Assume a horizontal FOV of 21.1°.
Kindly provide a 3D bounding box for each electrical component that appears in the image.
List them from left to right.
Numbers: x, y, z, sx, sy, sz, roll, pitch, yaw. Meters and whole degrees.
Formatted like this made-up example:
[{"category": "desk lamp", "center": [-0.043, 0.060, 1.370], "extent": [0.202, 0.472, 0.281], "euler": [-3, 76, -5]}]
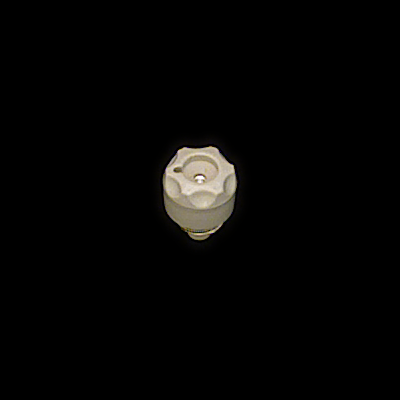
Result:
[{"category": "electrical component", "center": [0.000, 0.000, 0.636], "extent": [0.043, 0.043, 0.062], "euler": [0, -38, -1]}]
